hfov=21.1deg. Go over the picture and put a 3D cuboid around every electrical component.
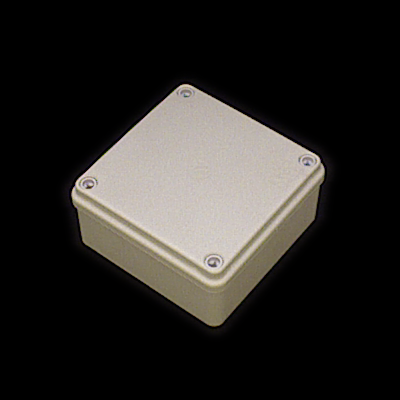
[{"bbox_3d":[0.000,0.000,0.630,0.108,0.109,0.056,31,-32,22],"label":"electrical component"}]
